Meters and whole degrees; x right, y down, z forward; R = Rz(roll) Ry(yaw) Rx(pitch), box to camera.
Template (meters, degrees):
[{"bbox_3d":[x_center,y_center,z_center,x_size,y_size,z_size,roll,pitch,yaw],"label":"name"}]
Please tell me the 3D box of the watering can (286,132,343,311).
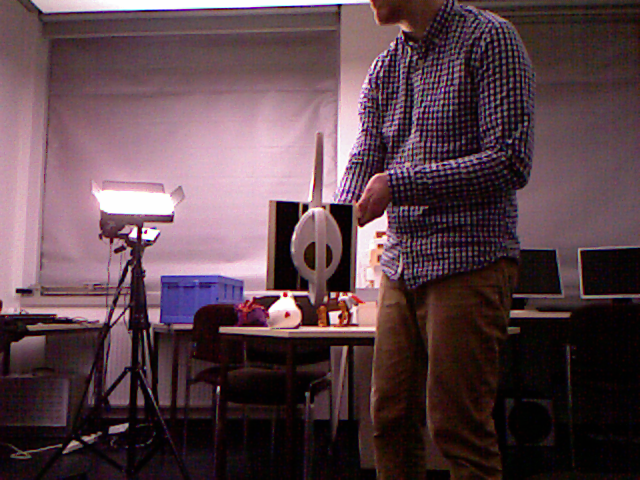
[{"bbox_3d":[-0.010,-0.034,1.063,0.104,0.349,0.224,1,0,-9],"label":"watering can"}]
